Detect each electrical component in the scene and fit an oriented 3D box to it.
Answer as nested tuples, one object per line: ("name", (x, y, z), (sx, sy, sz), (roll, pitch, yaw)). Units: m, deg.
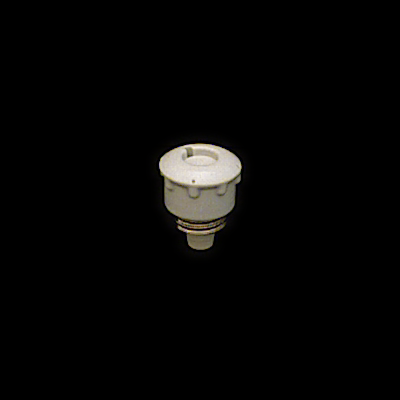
("electrical component", (0.000, 0.000, 0.640), (0.048, 0.063, 0.047), (1, 32, 0))
